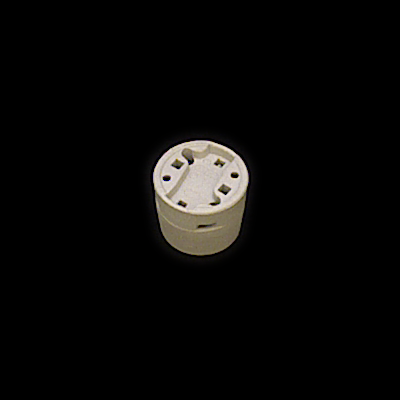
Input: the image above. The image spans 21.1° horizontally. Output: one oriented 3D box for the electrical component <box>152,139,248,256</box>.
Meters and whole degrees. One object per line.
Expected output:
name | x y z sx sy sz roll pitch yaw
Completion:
electrical component | 0.000 0.000 0.635 0.055 0.055 0.047 0 -37 0
